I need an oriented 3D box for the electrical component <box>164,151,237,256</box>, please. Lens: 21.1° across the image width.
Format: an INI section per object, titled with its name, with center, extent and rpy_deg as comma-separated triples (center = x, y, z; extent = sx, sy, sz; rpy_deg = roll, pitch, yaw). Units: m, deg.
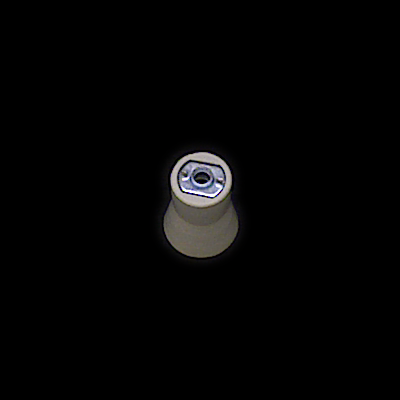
[electrical component]
center = 0.000, 0.000, 0.624
extent = 0.044, 0.044, 0.065
rpy_deg = 0, -26, 0
